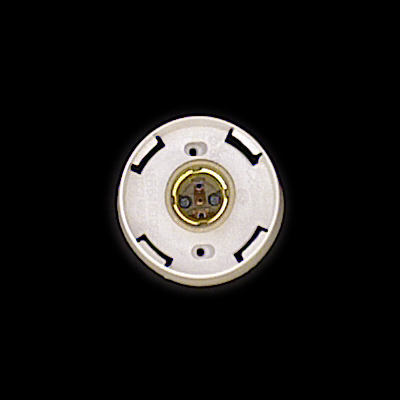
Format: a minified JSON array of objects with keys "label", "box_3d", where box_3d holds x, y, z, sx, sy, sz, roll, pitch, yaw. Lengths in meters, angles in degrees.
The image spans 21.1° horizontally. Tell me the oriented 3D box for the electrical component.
[{"label":"electrical component","box_3d":[0.000,0.000,0.625,0.099,0.099,0.064,0,-7,0]}]
